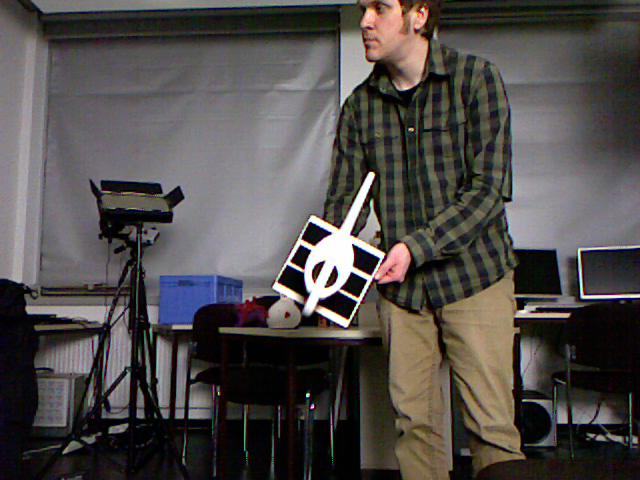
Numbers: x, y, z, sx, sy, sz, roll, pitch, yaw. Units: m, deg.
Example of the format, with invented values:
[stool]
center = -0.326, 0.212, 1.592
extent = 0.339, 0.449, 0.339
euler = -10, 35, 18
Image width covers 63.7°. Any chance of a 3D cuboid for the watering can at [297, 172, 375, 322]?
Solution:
[watering can]
center = 0.034, 0.021, 1.159
extent = 0.104, 0.350, 0.224
euler = 26, -6, -1
